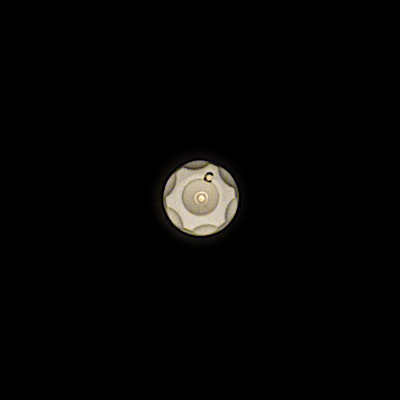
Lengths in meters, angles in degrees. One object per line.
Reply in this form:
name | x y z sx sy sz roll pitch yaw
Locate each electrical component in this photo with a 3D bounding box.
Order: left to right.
electrical component | 0.000 0.000 0.635 0.043 0.043 0.062 0 -4 1
